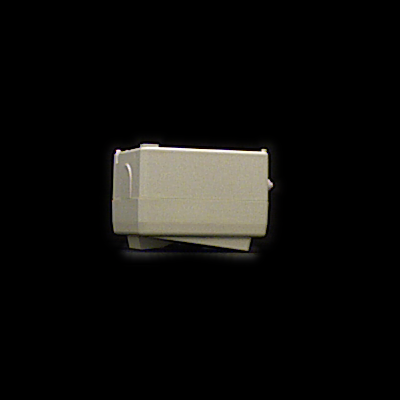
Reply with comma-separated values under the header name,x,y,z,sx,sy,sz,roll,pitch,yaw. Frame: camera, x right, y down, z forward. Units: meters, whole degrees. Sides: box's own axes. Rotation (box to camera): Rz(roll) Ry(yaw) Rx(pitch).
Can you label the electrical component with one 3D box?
name,x,y,z,sx,sy,sz,roll,pitch,yaw
electrical component,0.000,0.000,0.655,0.096,0.061,0.062,1,0,-21
